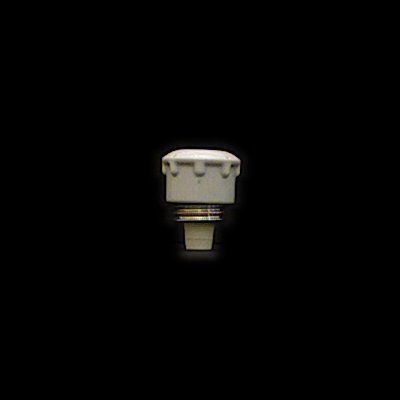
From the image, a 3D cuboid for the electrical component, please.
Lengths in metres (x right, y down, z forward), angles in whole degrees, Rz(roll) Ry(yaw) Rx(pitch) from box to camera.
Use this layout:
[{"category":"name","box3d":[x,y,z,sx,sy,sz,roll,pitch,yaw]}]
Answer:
[{"category":"electrical component","box3d":[0.000,0.000,0.659,0.048,0.062,0.048,1,2,0]}]
